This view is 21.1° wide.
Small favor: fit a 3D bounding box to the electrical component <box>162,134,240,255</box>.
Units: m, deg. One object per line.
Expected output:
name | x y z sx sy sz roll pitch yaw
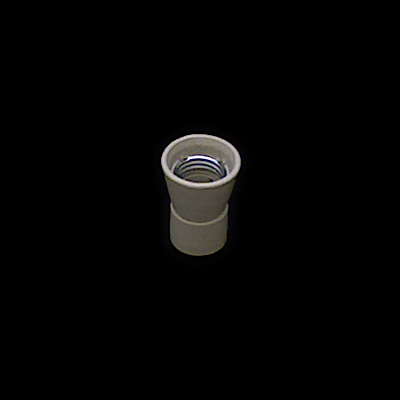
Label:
electrical component | 0.000 0.000 0.628 0.044 0.066 0.044 1 43 -1
